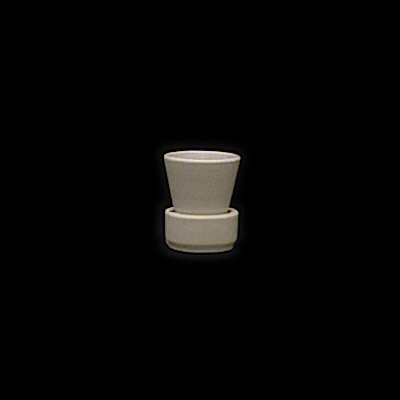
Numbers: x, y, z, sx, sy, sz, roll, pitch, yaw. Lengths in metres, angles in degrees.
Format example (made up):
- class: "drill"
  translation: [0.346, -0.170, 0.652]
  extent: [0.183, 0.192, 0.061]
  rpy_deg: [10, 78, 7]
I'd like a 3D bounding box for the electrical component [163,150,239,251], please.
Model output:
- class: "electrical component"
  translation: [0.000, 0.000, 0.645]
  extent: [0.045, 0.055, 0.044]
  rpy_deg: [1, 11, 0]
